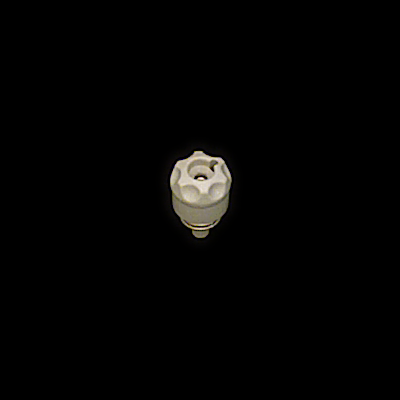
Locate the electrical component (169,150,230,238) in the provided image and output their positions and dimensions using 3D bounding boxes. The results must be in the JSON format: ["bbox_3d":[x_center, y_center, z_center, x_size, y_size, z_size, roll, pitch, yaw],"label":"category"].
[{"bbox_3d":[0.000,0.000,0.635,0.035,0.035,0.062,0,-37,0],"label":"electrical component"}]
